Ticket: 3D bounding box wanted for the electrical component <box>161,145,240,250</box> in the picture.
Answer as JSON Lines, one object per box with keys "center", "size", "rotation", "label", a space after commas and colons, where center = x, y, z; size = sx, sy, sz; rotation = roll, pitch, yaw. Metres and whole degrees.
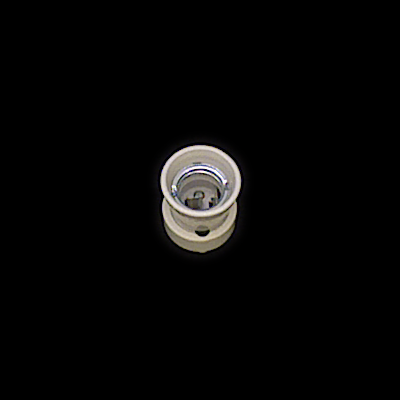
{"center": [0.000, 0.000, 0.629], "size": [0.045, 0.045, 0.055], "rotation": [0, -27, -1], "label": "electrical component"}
